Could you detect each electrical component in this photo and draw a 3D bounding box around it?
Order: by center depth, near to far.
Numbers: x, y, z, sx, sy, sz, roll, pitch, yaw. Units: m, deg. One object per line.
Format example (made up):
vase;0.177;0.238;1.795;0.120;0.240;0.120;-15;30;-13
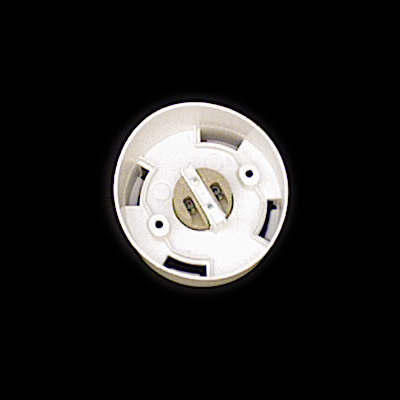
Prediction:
electrical component;0.000;0.000;0.623;0.099;0.099;0.064;0;-17;1
